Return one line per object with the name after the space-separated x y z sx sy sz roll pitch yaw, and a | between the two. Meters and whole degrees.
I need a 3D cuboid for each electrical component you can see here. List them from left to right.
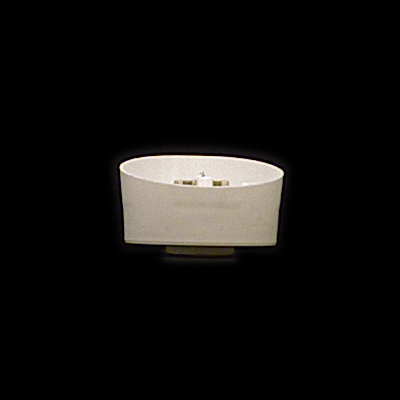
0.000 0.000 0.650 0.099 0.064 0.099 1 -1 0 | electrical component
